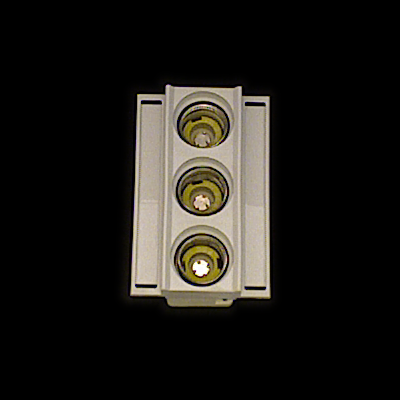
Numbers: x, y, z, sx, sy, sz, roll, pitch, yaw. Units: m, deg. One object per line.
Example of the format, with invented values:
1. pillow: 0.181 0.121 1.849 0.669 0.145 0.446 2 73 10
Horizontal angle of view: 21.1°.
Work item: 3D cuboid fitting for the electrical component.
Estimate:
1. electrical component: 0.000 0.000 0.637 0.079 0.121 0.063 1 -16 0
